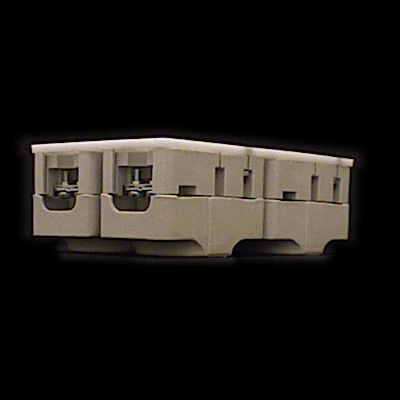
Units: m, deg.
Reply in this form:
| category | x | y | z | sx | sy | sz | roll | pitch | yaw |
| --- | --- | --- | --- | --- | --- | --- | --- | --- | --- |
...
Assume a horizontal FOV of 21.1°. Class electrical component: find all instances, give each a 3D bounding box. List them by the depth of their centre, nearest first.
| category | x | y | z | sx | sy | sz | roll | pitch | yaw |
| --- | --- | --- | --- | --- | --- | --- | --- | --- | --- |
| electrical component | 0.000 | 0.000 | 0.650 | 0.105 | 0.060 | 0.187 | 1 | -1 | 40 |
